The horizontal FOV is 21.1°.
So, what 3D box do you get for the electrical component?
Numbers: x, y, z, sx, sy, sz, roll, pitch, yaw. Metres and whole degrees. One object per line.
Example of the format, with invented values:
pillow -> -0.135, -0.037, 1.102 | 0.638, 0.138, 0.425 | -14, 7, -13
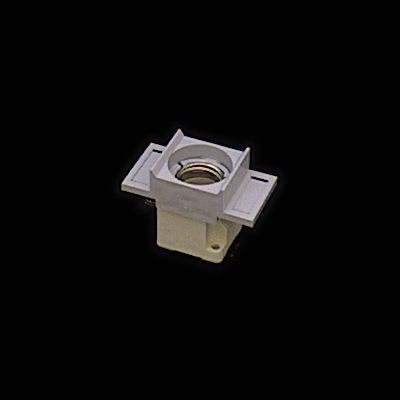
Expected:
electrical component -> 0.000, 0.000, 0.629 | 0.080, 0.064, 0.042 | 16, 45, 16
